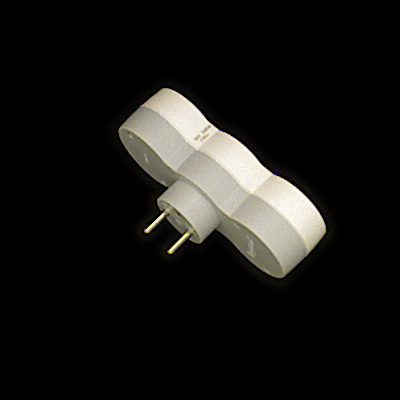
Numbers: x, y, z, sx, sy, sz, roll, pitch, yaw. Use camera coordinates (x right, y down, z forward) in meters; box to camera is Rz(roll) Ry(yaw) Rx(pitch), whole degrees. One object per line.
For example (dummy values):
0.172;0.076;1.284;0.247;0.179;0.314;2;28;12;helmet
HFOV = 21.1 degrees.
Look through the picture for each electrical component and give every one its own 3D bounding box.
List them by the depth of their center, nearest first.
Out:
0.000;0.000;0.637;0.137;0.074;0.052;40;-19;17;electrical component
